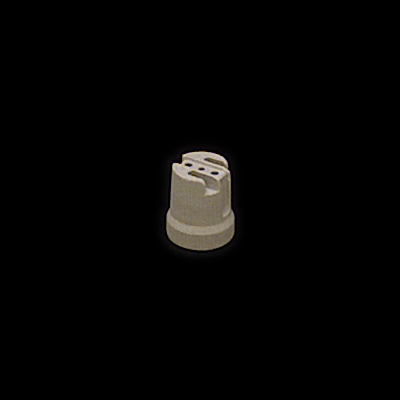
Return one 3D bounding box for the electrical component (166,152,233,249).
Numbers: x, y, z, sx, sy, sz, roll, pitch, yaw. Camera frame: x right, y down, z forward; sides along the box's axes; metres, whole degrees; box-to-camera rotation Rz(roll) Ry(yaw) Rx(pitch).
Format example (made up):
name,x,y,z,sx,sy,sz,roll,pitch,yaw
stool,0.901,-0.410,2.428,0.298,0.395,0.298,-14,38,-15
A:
name,x,y,z,sx,sy,sz,roll,pitch,yaw
electrical component,0.000,0.000,0.637,0.040,0.046,0.040,0,32,0
